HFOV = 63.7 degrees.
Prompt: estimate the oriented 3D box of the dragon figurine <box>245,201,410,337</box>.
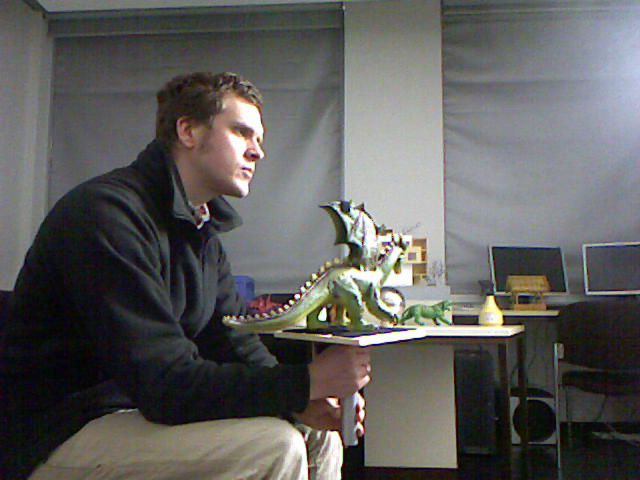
[{"bbox_3d":[0.043,0.049,0.958,0.410,0.243,0.122,4,-3,-45],"label":"dragon figurine"}]
